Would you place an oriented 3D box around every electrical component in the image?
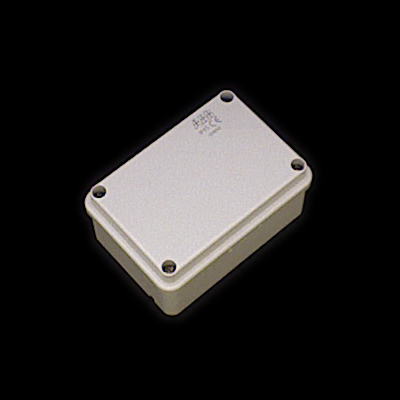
[{"bbox_3d":[0.000,0.000,0.628,0.113,0.078,0.057,-38,-21,-18],"label":"electrical component"}]
